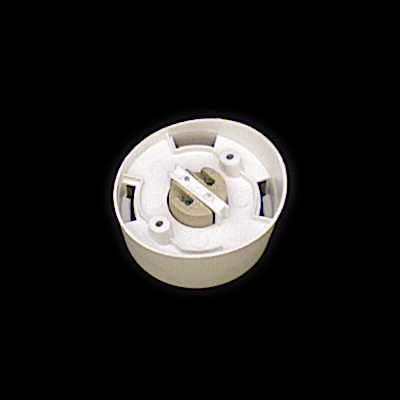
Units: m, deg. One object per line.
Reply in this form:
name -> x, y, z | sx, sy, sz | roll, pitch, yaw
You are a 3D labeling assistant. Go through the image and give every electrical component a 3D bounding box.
electrical component -> 0.000, 0.000, 0.624 | 0.099, 0.099, 0.064 | 0, -27, -1
